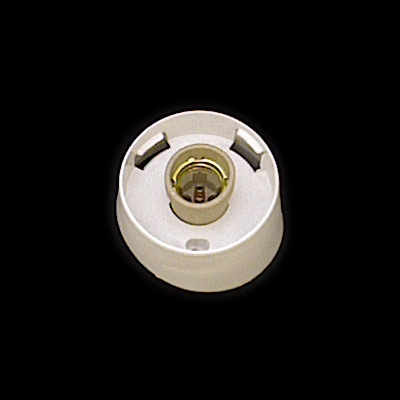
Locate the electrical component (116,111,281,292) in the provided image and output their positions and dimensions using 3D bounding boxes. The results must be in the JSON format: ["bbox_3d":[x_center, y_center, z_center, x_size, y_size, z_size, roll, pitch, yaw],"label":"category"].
[{"bbox_3d":[0.000,0.000,0.625,0.099,0.099,0.064,0,-27,-1],"label":"electrical component"}]
